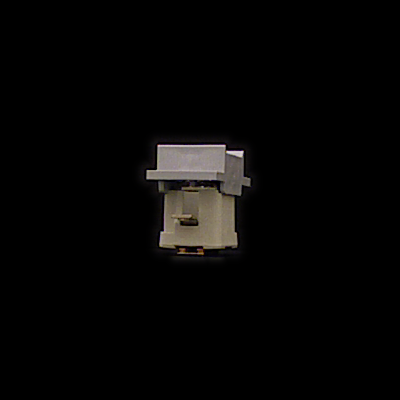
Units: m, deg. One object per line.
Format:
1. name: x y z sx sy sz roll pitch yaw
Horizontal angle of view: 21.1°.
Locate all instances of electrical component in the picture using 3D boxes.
1. electrical component: 0.000 0.000 0.647 0.042 0.064 0.081 3 0 17
